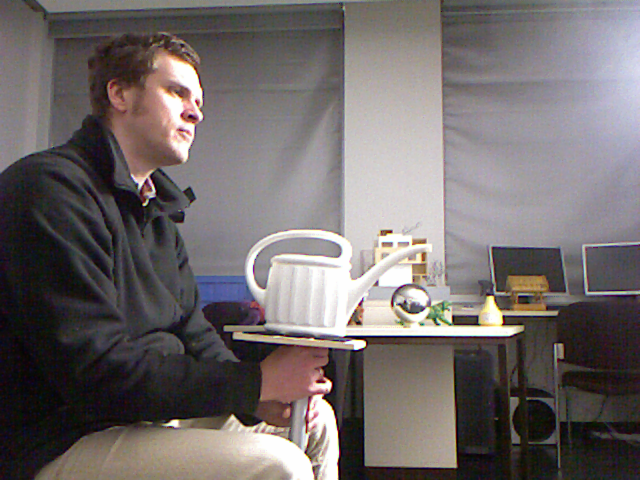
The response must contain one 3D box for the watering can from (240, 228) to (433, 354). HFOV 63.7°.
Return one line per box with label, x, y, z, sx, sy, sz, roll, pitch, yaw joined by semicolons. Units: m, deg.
watering can;0.021;0.092;0.921;0.348;0.225;0.104;3;-3;11
